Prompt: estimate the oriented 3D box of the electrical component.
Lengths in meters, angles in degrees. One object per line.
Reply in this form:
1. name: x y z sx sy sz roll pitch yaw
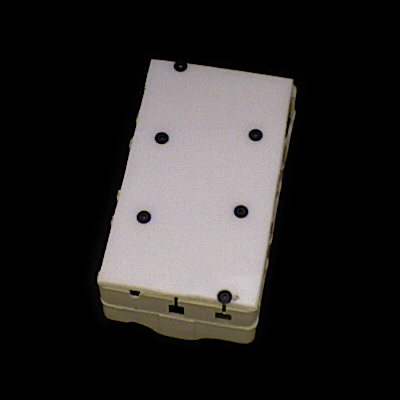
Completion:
1. electrical component: 0.000 0.000 0.632 0.089 0.149 0.062 10 -27 5
